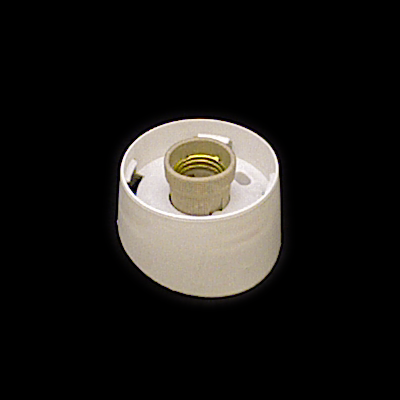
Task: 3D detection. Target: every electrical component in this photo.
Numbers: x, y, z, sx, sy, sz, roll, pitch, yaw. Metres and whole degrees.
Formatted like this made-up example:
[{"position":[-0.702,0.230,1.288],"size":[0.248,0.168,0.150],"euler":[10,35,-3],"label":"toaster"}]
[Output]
[{"position":[0.000,0.000,0.629],"size":[0.099,0.065,0.098],"euler":[1,42,0],"label":"electrical component"}]
